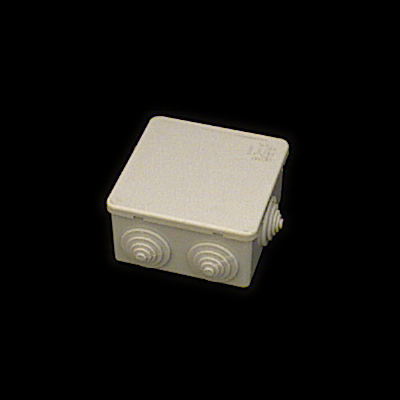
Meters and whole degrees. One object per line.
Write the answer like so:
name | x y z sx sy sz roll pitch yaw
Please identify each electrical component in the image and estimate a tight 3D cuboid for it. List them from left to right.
electrical component | 0.000 0.000 0.643 0.099 0.049 0.099 12 44 11
